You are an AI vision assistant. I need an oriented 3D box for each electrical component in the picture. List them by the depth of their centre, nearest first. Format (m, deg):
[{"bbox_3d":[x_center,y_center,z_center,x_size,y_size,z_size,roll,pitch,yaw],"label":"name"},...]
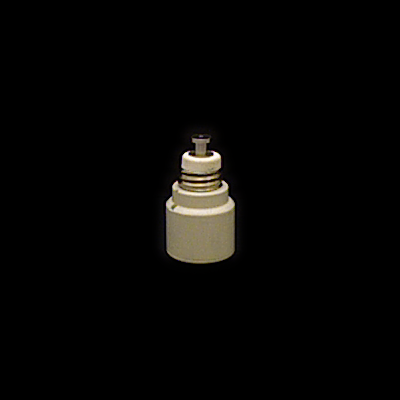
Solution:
[{"bbox_3d":[0.000,0.000,0.636,0.040,0.079,0.039,0,22,0],"label":"electrical component"}]
